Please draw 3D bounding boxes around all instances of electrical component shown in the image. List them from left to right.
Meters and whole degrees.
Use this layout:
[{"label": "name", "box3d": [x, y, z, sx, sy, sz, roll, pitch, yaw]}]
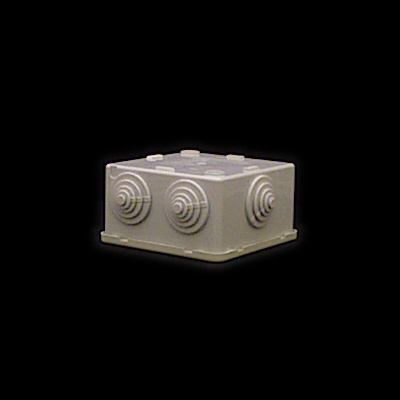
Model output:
[{"label": "electrical component", "box3d": [0.000, 0.000, 0.645, 0.099, 0.049, 0.100, 9, 13, 35]}]
